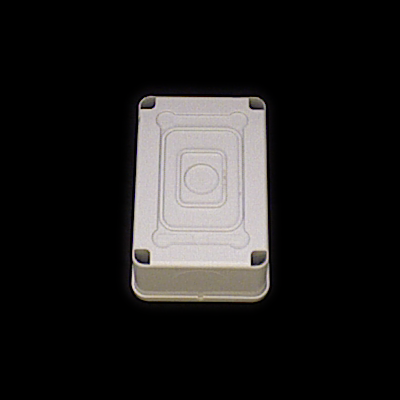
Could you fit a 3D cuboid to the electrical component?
[{"bbox_3d":[0.000,0.000,0.628,0.078,0.113,0.057,1,-26,0],"label":"electrical component"}]
